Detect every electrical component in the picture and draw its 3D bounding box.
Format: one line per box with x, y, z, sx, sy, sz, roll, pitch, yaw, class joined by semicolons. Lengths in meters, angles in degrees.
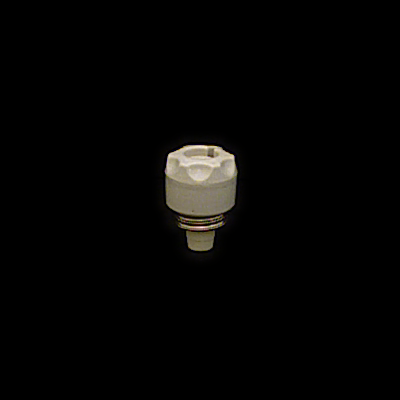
0.000;0.000;0.645;0.043;0.063;0.043;1;23;0;electrical component
